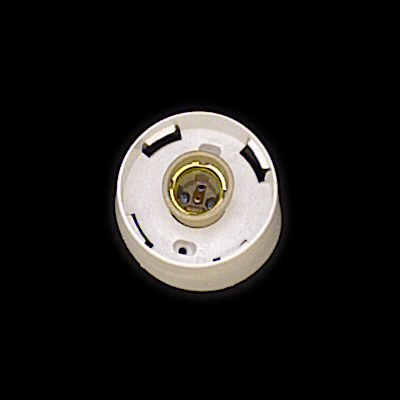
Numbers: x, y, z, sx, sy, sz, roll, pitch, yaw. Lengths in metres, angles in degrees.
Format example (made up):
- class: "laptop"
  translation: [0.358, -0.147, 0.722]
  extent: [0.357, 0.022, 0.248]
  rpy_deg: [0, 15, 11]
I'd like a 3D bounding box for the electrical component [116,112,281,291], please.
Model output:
- class: "electrical component"
  translation: [0.000, 0.000, 0.624]
  extent: [0.099, 0.099, 0.064]
  rpy_deg: [0, -17, -1]
